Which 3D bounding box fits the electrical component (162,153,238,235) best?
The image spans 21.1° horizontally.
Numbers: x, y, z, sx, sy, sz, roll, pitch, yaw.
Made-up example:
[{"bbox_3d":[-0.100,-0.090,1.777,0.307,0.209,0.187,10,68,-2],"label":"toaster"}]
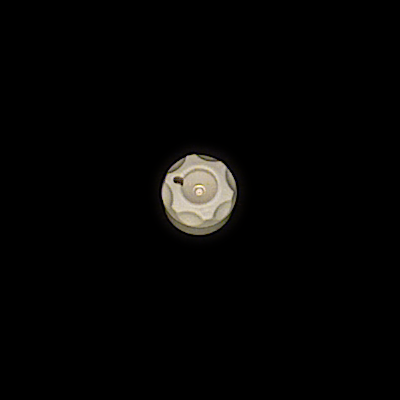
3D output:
[{"bbox_3d":[0.000,0.000,0.634,0.043,0.043,0.061,0,-16,-1],"label":"electrical component"}]
